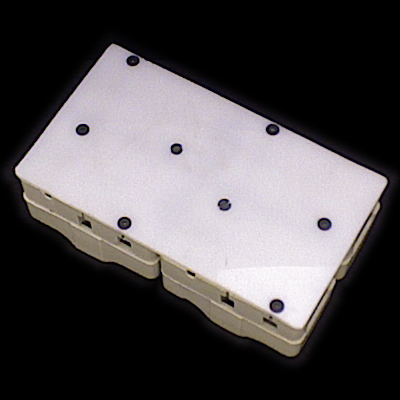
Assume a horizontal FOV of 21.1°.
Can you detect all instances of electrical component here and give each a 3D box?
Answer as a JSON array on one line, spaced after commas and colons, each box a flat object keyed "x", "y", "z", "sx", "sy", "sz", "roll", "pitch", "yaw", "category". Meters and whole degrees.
[{"x": 0.000, "y": 0.000, "z": 0.626, "sx": 0.186, "sy": 0.106, "sz": 0.060, "roll": 28, "pitch": -24, "yaw": 13, "category": "electrical component"}]
